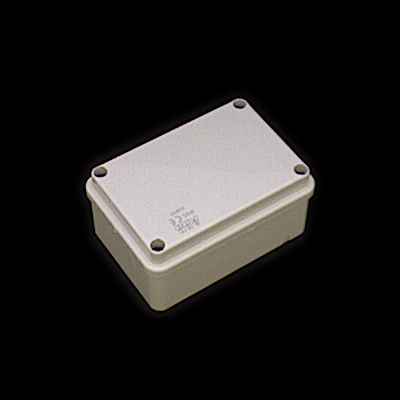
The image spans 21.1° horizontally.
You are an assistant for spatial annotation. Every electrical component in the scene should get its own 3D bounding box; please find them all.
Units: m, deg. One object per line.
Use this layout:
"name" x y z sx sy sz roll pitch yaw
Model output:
"electrical component" 0.000 0.000 0.627 0.113 0.078 0.057 -28 -32 -20
